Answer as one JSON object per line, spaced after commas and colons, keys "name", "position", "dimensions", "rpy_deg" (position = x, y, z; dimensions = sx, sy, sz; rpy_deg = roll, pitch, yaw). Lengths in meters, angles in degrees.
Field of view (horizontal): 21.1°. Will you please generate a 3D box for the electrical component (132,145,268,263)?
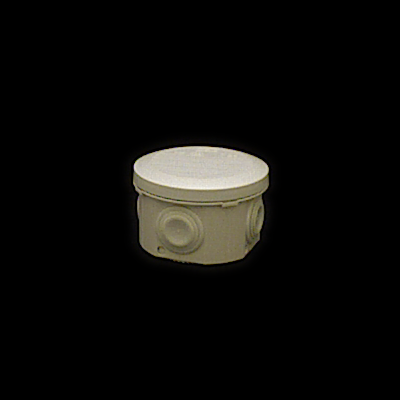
{"name": "electrical component", "position": [0.000, 0.000, 0.640], "dimensions": [0.080, 0.051, 0.079], "rpy_deg": [1, 21, 0]}
